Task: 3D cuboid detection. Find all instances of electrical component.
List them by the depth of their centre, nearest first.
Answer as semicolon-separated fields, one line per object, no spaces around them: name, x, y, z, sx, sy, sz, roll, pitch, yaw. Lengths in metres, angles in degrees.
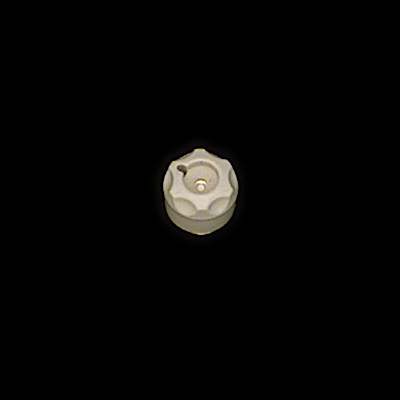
electrical component;0.000;0.000;0.634;0.043;0.043;0.062;0;-26;-1
